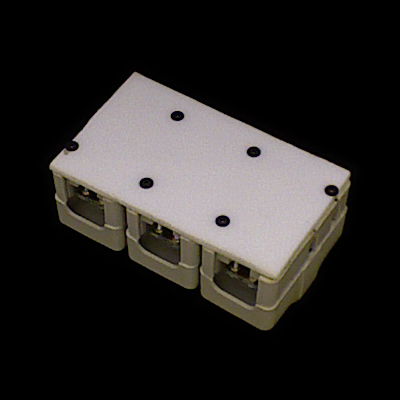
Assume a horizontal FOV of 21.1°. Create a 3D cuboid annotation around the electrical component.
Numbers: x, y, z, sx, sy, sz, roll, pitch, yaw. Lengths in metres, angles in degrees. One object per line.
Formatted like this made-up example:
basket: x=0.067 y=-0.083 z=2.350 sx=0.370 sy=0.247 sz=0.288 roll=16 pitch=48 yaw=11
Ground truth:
electrical component: x=0.000 y=0.000 z=0.633 sx=0.149 sy=0.088 sz=0.062 roll=27 pitch=-33 yaw=18
